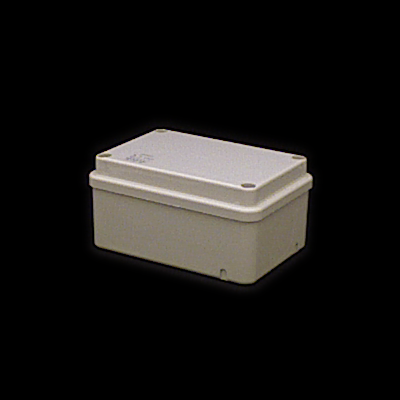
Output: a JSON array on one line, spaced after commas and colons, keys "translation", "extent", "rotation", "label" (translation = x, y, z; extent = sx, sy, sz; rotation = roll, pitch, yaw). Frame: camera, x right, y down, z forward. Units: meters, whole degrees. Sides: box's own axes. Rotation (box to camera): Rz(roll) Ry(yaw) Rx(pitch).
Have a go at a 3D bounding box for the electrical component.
[{"translation": [0.000, 0.000, 0.637], "extent": [0.112, 0.058, 0.078], "rotation": [13, 24, 28], "label": "electrical component"}]
